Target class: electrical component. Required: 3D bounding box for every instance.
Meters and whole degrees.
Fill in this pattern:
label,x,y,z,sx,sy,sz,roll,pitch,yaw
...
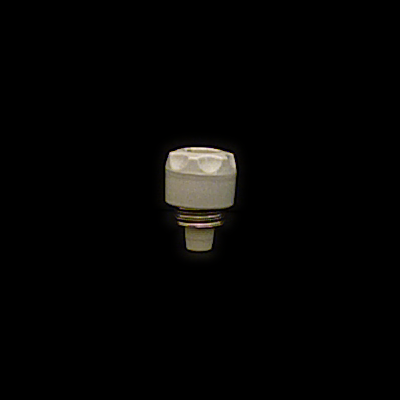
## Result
label,x,y,z,sx,sy,sz,roll,pitch,yaw
electrical component,0.000,0.000,0.651,0.043,0.062,0.043,2,12,0
